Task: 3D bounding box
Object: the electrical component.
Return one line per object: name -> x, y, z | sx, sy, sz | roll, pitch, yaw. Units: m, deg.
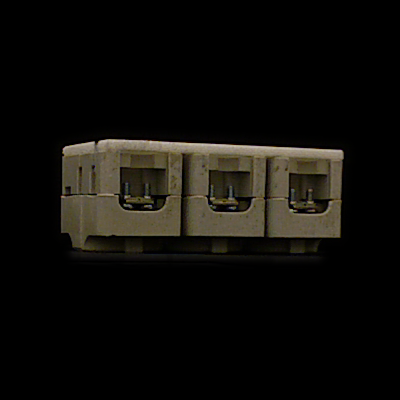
electrical component -> 0.000, 0.000, 0.653 | 0.150, 0.062, 0.089 | 1, -1, -23
